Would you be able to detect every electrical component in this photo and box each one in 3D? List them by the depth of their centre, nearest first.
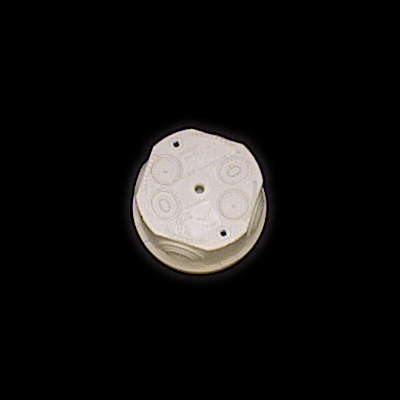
[{"bbox_3d":[0.000,0.000,0.632,0.080,0.080,0.050,0,-16,-1],"label":"electrical component"}]
